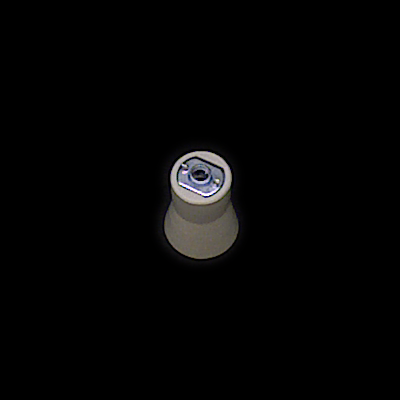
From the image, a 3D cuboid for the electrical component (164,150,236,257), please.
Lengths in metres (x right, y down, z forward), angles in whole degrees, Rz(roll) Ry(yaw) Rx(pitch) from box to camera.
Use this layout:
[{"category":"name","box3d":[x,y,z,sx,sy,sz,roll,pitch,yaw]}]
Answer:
[{"category":"electrical component","box3d":[0.000,0.000,0.626,0.044,0.044,0.065,0,-28,0]}]
